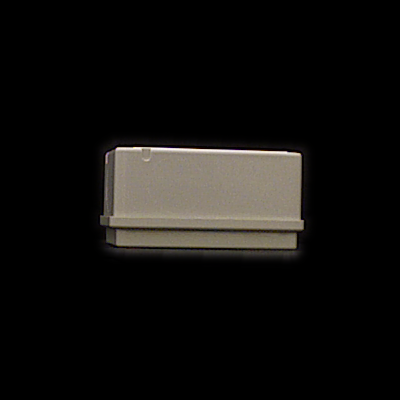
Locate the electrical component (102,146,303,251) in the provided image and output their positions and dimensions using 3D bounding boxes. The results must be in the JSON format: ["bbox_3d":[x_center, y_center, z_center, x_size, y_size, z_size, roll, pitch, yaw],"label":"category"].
[{"bbox_3d":[0.000,0.000,0.649,0.113,0.057,0.078,2,0,-10],"label":"electrical component"}]
